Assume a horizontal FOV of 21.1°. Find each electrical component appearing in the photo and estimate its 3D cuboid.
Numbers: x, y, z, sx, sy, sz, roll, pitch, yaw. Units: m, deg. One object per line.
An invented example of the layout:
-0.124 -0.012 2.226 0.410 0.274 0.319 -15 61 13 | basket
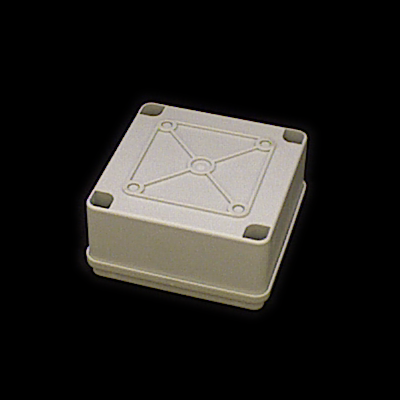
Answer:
0.000 0.000 0.634 0.108 0.057 0.107 12 43 11 | electrical component
